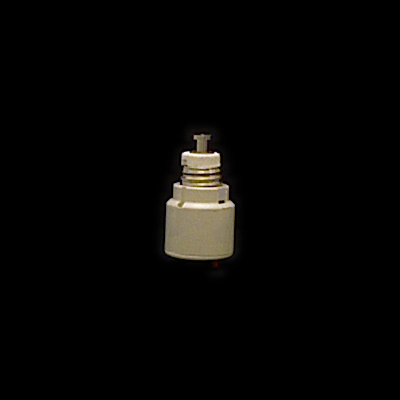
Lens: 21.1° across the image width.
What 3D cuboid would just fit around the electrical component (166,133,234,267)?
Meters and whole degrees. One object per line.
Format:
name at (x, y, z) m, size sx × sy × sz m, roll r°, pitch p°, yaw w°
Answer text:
electrical component at (0.000, 0.000, 0.641) m, size 0.040 × 0.079 × 0.040 m, roll 1°, pitch 10°, yaw 0°
